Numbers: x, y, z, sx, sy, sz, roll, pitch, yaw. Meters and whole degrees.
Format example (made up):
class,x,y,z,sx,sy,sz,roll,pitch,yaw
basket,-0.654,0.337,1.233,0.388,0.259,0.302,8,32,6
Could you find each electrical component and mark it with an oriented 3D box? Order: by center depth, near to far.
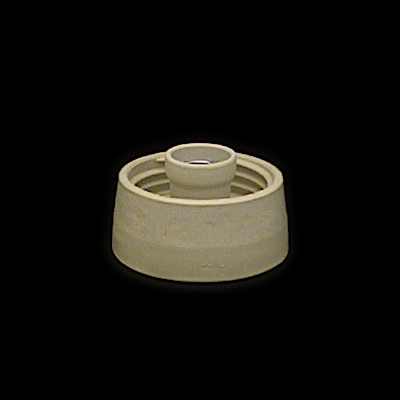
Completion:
class,x,y,z,sx,sy,sz,roll,pitch,yaw
electrical component,0.000,0.000,0.647,0.108,0.061,0.106,1,21,0
